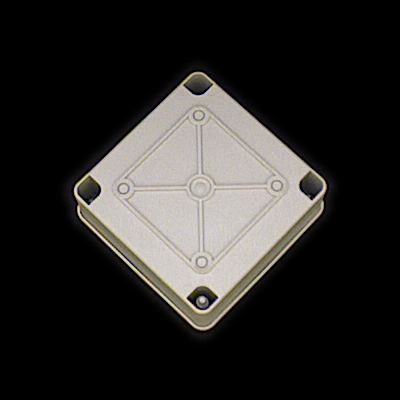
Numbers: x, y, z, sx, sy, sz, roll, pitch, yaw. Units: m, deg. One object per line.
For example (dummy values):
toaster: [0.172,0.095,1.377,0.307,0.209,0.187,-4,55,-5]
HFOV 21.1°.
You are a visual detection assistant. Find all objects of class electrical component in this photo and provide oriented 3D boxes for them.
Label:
electrical component: [0.000,0.000,0.627,0.109,0.109,0.056,43,-12,12]
